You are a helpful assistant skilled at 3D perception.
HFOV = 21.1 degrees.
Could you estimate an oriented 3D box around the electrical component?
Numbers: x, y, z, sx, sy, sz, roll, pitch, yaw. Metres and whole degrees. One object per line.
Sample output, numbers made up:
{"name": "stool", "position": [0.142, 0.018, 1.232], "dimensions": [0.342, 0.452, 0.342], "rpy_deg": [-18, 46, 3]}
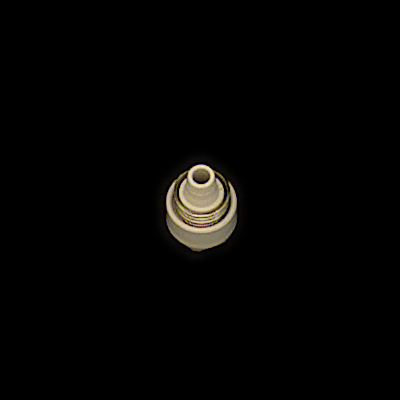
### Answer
{"name": "electrical component", "position": [0.000, 0.000, 0.634], "dimensions": [0.043, 0.043, 0.062], "rpy_deg": [0, -28, 0]}
